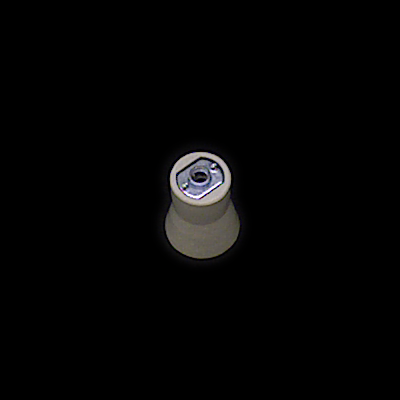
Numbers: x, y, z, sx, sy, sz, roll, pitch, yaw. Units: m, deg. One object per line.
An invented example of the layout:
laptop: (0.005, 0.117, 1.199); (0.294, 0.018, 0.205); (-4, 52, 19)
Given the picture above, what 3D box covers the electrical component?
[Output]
electrical component: (0.000, 0.000, 0.625); (0.044, 0.044, 0.065); (0, -28, 1)
